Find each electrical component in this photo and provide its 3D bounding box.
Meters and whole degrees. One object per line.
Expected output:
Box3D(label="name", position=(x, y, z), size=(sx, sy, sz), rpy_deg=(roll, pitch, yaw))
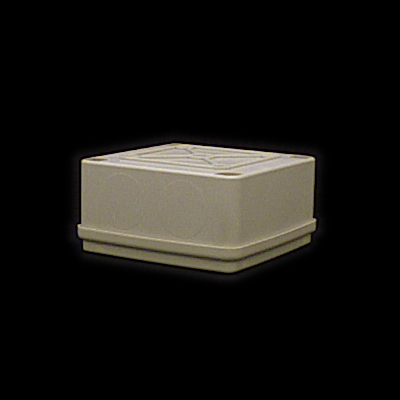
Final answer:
Box3D(label="electrical component", position=(0.000, 0.000, 0.642), size=(0.108, 0.056, 0.108), rpy_deg=(7, 12, 30))
